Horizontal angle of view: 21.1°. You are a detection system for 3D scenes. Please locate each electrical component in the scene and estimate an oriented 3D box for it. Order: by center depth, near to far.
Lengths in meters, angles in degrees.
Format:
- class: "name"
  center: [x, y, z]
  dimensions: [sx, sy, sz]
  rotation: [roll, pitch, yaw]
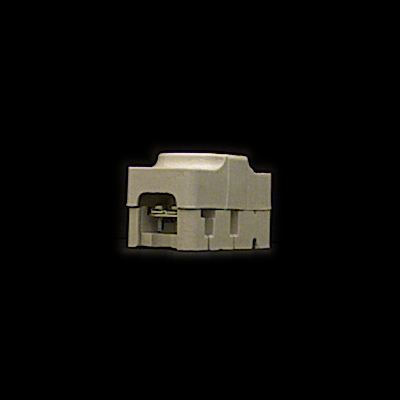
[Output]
- class: "electrical component"
  center: [0.000, 0.000, 0.657]
  dimensions: [0.050, 0.056, 0.090]
  rotation: [2, 1, 34]
